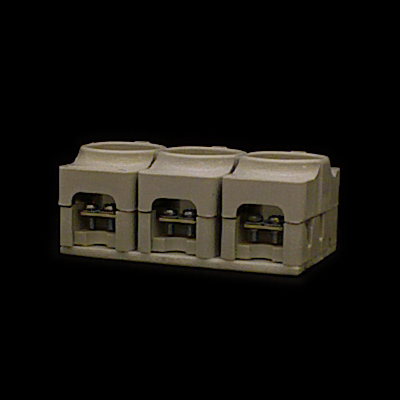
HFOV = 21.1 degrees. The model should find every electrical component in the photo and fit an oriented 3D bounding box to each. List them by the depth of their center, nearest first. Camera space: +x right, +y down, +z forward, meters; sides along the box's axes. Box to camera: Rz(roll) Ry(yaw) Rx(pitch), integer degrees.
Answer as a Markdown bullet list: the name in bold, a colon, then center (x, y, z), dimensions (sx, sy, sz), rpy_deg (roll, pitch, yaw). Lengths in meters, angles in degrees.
- **electrical component**: center (0.000, 0.000, 0.652), dimensions (0.150, 0.062, 0.089), rpy_deg (5, 10, 19)
